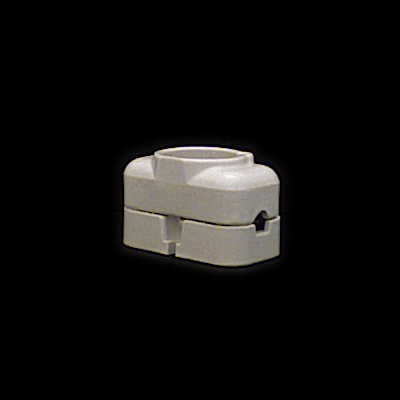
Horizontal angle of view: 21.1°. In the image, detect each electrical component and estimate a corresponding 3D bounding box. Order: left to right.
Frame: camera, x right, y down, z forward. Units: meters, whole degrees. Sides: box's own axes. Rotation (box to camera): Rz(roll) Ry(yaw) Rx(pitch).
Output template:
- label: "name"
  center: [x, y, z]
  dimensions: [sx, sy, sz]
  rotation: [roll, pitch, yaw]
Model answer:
- label: "electrical component"
  center: [0.000, 0.000, 0.652]
  dimensions: [0.094, 0.060, 0.054]
  rotation: [10, 15, 38]
